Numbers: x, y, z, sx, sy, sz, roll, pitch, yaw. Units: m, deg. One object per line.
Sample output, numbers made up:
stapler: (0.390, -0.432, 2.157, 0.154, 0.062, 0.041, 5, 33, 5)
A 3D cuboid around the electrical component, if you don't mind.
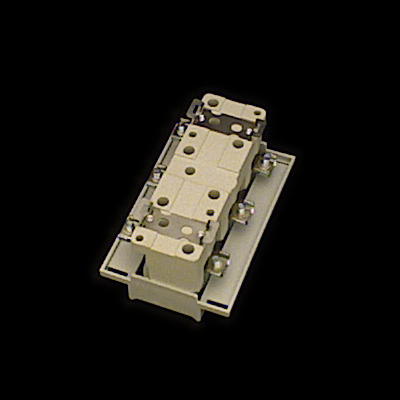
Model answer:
electrical component: (0.000, 0.000, 0.635, 0.078, 0.121, 0.063, 17, -35, 12)
